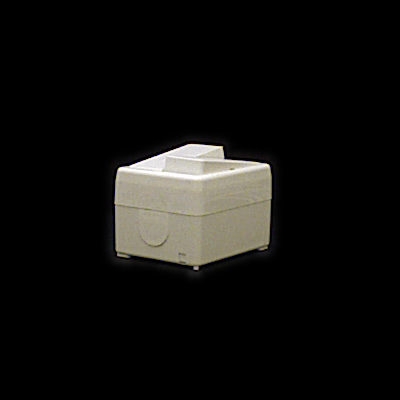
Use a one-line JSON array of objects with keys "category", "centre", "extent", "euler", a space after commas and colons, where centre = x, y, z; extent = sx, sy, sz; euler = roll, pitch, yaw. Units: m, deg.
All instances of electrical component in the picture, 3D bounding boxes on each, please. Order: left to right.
[{"category": "electrical component", "centre": [0.000, 0.000, 0.647], "extent": [0.061, 0.061, 0.096], "euler": [9, 13, 34]}]
